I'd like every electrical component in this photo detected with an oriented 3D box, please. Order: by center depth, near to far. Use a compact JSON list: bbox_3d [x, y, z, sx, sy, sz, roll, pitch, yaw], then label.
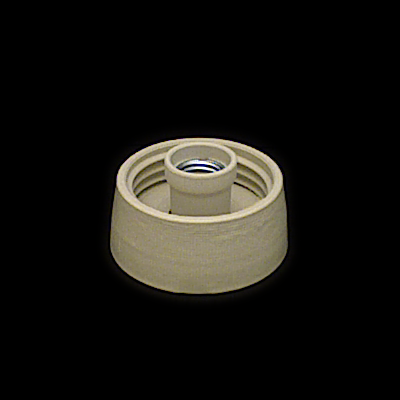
[{"bbox_3d":[0.000,0.000,0.640,0.108,0.061,0.106,1,32,0],"label":"electrical component"}]
